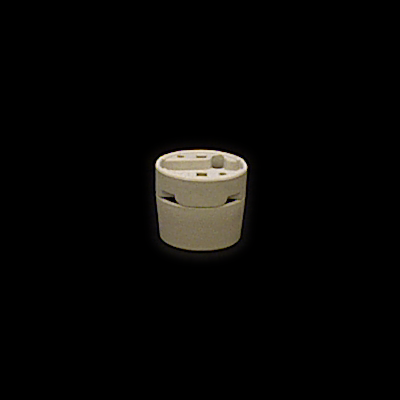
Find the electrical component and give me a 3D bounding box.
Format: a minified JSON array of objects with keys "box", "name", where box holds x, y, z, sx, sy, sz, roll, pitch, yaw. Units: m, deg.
[{"box":[0.000,0.000,0.643,0.055,0.047,0.055,1,22,0],"name":"electrical component"}]
